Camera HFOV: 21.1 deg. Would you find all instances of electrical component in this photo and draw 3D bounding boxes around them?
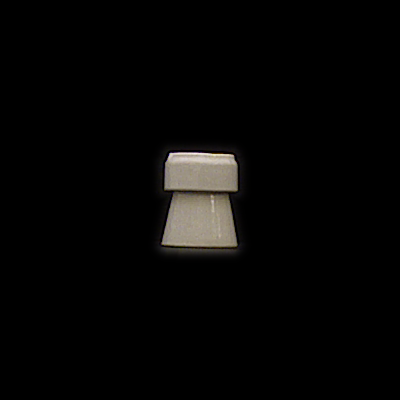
[{"bbox_3d":[0.000,0.000,0.648,0.045,0.055,0.044,1,2,0],"label":"electrical component"}]
